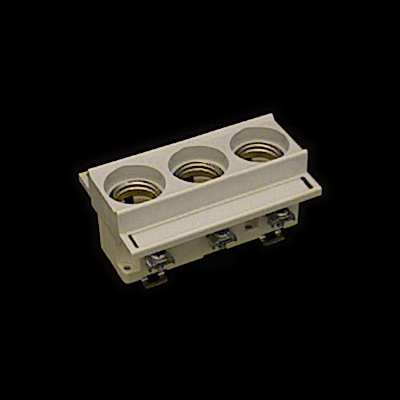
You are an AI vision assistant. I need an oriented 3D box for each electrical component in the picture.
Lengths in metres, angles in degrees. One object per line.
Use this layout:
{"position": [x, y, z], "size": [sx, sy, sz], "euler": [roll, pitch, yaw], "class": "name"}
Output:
{"position": [0.000, 0.000, 0.643], "size": [0.121, 0.064, 0.077], "euler": [-18, 44, -19], "class": "electrical component"}
